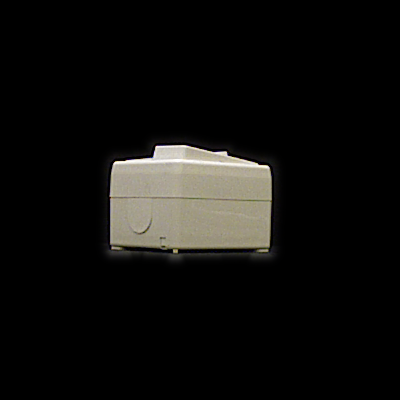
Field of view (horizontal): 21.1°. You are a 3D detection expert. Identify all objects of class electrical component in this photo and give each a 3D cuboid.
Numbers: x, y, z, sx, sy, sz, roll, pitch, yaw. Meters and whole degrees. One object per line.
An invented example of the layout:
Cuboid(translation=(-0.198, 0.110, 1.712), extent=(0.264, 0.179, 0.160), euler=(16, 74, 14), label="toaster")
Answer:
Cuboid(translation=(0.000, 0.000, 0.652), extent=(0.096, 0.061, 0.061), euler=(1, 0, -43), label="electrical component")
